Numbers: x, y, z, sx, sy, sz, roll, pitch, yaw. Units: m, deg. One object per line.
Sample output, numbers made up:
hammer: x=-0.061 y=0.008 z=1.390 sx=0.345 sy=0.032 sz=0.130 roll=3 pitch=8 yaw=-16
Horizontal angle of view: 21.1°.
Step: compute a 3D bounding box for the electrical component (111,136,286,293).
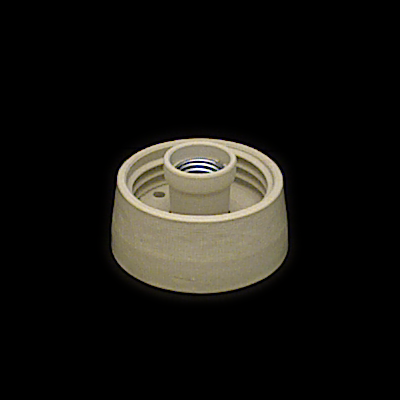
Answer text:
electrical component: x=0.000 y=0.000 z=0.643 sx=0.108 sy=0.061 sz=0.106 roll=1 pitch=32 yaw=0
